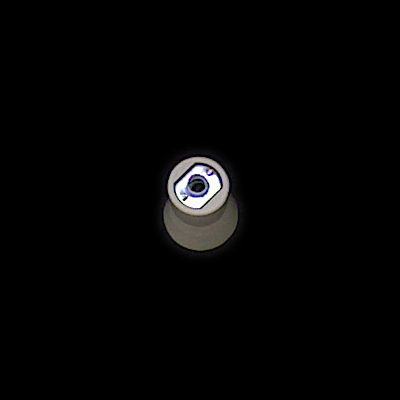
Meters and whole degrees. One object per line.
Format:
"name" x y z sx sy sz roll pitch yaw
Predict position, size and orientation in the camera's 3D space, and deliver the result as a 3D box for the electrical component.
"electrical component" 0.000 0.000 0.625 0.044 0.044 0.065 0 -17 1
